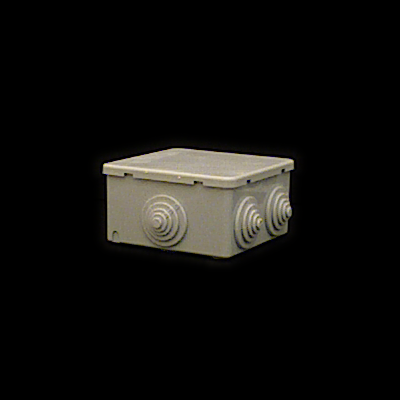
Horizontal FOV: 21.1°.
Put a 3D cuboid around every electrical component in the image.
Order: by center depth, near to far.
[{"bbox_3d":[0.000,0.000,0.653,0.098,0.049,0.100,7,13,28],"label":"electrical component"}]
